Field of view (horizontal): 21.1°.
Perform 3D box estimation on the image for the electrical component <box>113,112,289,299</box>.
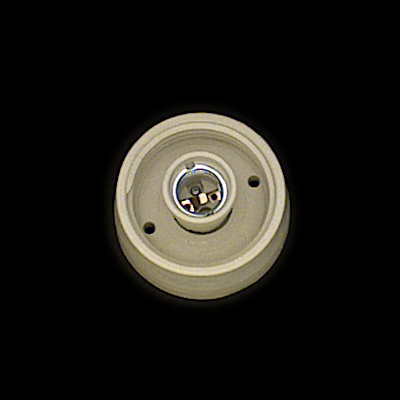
[{"bbox_3d":[0.000,0.000,0.634,0.108,0.108,0.060,0,-16,0],"label":"electrical component"}]
